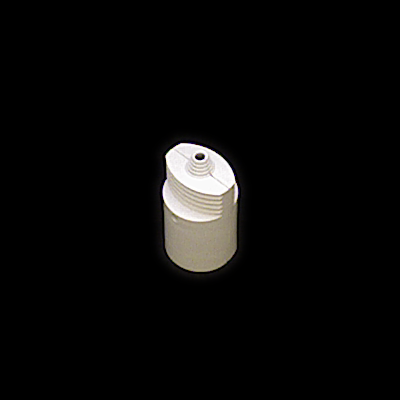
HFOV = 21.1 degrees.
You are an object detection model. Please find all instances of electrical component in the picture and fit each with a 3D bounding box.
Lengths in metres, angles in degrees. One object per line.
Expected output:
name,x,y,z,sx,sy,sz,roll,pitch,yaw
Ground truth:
electrical component,0.000,0.000,0.620,0.043,0.043,0.081,0,-38,0
